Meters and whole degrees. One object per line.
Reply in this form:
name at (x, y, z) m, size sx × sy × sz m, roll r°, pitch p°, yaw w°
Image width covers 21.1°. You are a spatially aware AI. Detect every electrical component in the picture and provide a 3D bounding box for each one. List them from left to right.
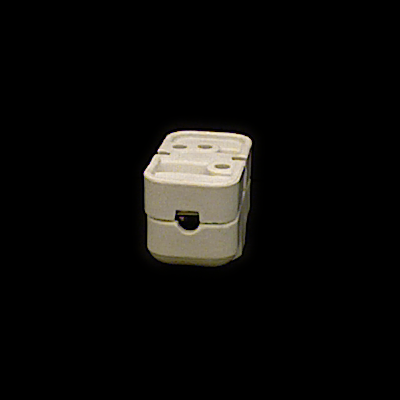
electrical component at (0.000, 0.000, 0.644) m, size 0.053 × 0.060 × 0.094 m, roll 4°, pitch 22°, yaw 7°
